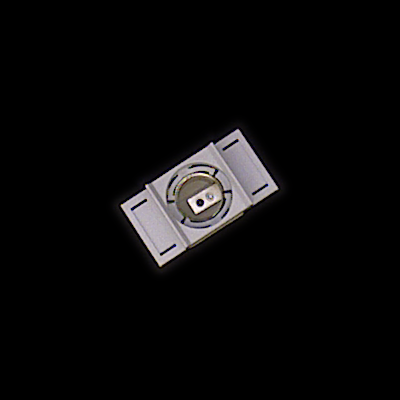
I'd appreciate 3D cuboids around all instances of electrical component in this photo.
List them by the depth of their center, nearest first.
[{"bbox_3d":[0.000,0.000,0.625,0.081,0.042,0.063,-33,-6,-3],"label":"electrical component"}]
